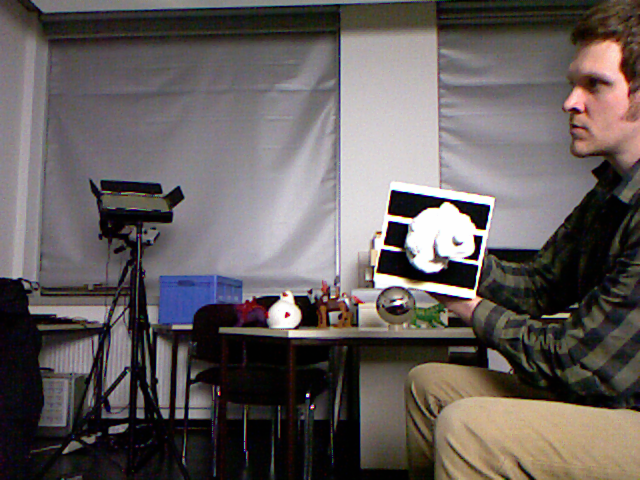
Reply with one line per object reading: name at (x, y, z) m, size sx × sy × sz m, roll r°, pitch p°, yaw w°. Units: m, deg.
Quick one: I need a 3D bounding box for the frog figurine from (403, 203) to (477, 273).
frog figurine at (0.221, -0.001, 0.968) m, size 0.123 × 0.138 × 0.160 m, roll 32°, pitch 0°, yaw 3°
